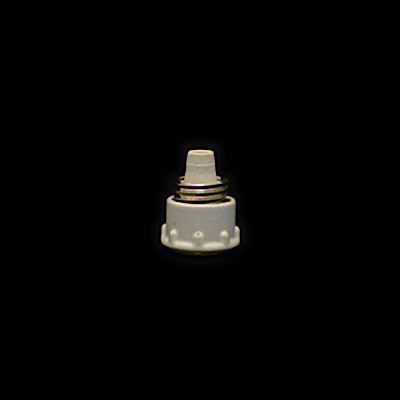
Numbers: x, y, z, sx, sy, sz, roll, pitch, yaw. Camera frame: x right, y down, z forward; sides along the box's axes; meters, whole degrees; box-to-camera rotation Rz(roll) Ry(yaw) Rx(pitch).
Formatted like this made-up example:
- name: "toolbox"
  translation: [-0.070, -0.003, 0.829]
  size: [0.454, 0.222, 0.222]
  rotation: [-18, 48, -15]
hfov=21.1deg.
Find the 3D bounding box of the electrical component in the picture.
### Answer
- name: "electrical component"
  translation: [0.000, 0.000, 0.649]
  size: [0.048, 0.062, 0.048]
  rotation: [0, 13, 0]
